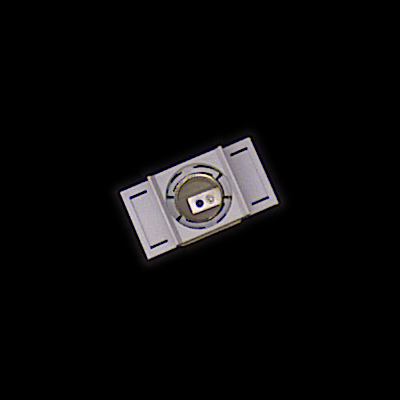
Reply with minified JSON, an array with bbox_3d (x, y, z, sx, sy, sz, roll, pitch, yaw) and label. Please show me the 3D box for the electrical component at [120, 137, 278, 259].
[{"bbox_3d":[0.000,0.000,0.625,0.081,0.042,0.063,-23,-7,-2],"label":"electrical component"}]
